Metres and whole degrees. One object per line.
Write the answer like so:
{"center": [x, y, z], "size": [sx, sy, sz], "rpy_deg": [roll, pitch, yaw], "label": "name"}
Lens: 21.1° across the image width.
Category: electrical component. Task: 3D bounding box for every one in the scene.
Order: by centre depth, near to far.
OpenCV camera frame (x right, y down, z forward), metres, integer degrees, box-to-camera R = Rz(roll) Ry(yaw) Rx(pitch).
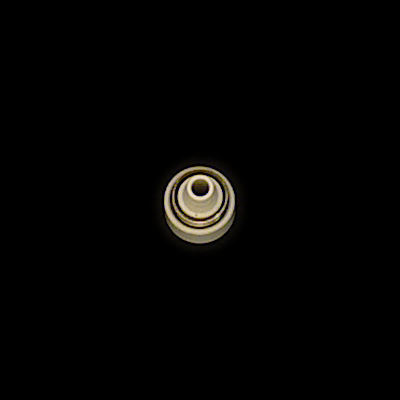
{"center": [0.000, 0.000, 0.633], "size": [0.043, 0.043, 0.061], "rpy_deg": [0, -15, -1], "label": "electrical component"}
